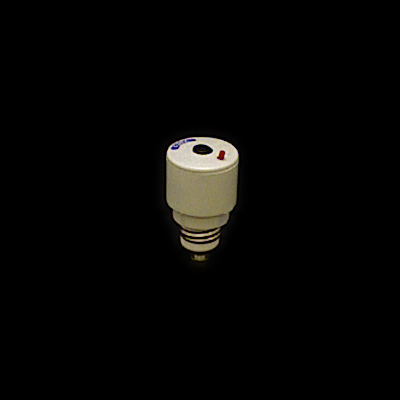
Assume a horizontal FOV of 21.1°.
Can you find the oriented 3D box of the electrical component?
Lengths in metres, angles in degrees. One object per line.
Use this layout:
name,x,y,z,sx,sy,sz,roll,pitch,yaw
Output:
electrical component,0.000,0.000,0.627,0.040,0.079,0.039,1,31,-1
